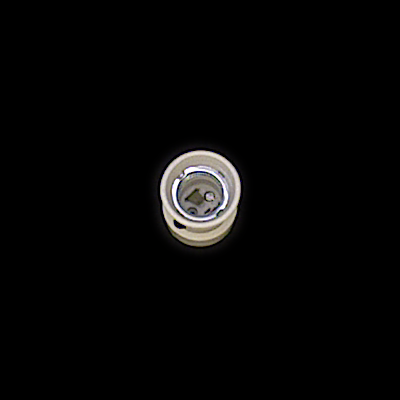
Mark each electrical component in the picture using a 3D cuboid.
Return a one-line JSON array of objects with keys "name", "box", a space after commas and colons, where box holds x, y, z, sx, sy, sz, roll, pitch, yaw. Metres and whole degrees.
[{"name": "electrical component", "box": [0.000, 0.000, 0.628, 0.045, 0.045, 0.055, 0, -16, 0]}]
